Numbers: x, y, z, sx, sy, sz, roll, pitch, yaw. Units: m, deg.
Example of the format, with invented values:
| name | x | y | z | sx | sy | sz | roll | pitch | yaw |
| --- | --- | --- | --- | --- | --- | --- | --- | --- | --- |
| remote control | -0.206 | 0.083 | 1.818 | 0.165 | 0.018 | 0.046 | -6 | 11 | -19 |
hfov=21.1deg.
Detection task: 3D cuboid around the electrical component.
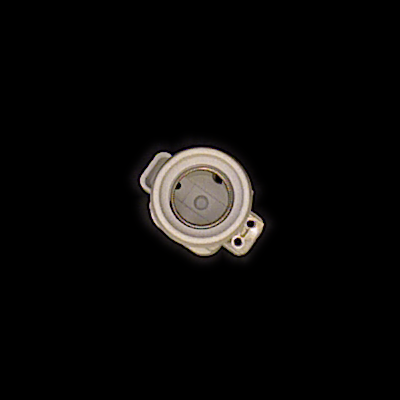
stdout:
| name | x | y | z | sx | sy | sz | roll | pitch | yaw |
| --- | --- | --- | --- | --- | --- | --- | --- | --- | --- |
| electrical component | 0.000 | 0.000 | 0.630 | 0.078 | 0.058 | 0.056 | 35 | -5 | 4 |
